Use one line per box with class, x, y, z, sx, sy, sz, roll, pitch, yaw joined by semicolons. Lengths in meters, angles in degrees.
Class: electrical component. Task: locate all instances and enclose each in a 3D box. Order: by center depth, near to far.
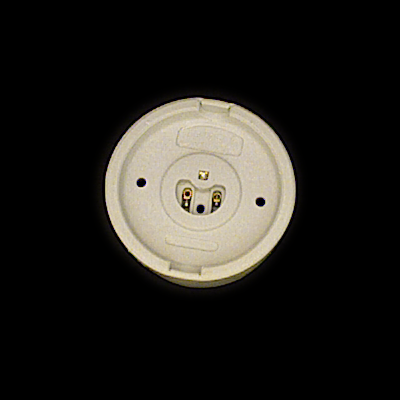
electrical component;0.000;0.000;0.635;0.108;0.108;0.060;0;-16;0
